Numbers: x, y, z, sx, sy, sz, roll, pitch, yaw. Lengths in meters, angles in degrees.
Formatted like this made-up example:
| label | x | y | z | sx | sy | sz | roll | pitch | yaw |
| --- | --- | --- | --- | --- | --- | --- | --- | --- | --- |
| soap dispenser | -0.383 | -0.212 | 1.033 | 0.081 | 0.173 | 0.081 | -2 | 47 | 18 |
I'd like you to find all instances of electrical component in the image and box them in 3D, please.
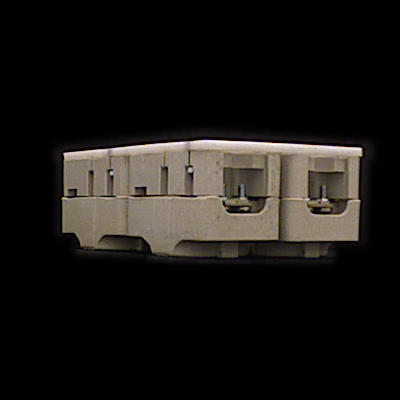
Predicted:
| label | x | y | z | sx | sy | sz | roll | pitch | yaw |
| --- | --- | --- | --- | --- | --- | --- | --- | --- | --- |
| electrical component | 0.000 | 0.000 | 0.649 | 0.106 | 0.060 | 0.186 | 2 | -1 | -30 |
